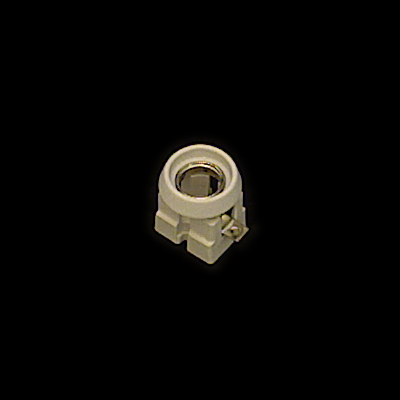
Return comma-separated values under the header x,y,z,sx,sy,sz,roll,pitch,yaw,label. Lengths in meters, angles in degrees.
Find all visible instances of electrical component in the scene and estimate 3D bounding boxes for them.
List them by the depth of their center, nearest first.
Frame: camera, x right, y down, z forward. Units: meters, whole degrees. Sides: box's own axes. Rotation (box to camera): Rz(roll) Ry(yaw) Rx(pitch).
x,y,z,sx,sy,sz,roll,pitch,yaw,label
0.000,0.000,0.638,0.066,0.048,0.056,30,-30,20,electrical component
